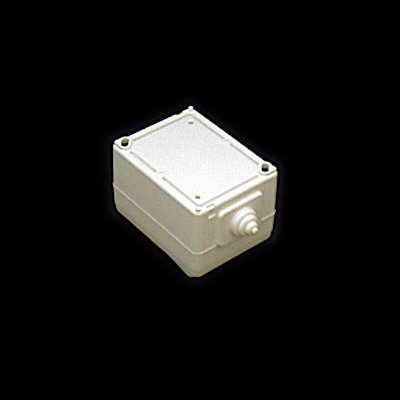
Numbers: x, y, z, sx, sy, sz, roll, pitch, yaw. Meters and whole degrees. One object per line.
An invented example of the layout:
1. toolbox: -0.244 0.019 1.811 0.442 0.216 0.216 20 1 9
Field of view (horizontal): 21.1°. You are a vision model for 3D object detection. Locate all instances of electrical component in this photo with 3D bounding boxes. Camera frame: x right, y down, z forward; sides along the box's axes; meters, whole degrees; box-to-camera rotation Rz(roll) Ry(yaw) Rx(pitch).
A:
1. electrical component: 0.000 0.000 0.627 0.061 0.061 0.096 -28 49 -29
